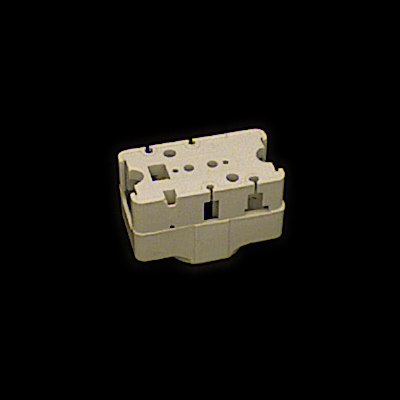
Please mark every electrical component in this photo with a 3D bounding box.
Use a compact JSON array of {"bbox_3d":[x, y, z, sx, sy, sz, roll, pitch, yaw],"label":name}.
[{"bbox_3d":[0.000,0.000,0.639,0.090,0.056,0.049,-10,44,-11],"label":"electrical component"}]
